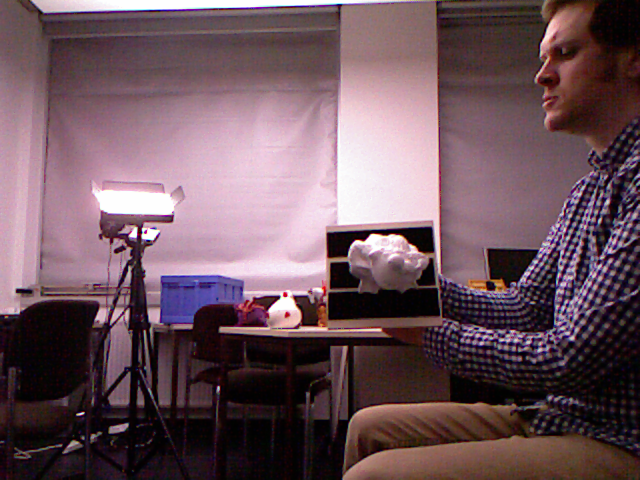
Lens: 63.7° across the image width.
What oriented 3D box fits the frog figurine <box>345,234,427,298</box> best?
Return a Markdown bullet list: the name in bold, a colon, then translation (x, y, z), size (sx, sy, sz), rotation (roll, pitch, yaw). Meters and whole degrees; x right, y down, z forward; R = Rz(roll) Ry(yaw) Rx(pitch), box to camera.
- **frog figurine**: translation (0.111, 0.033, 0.869), size (0.138, 0.125, 0.157), rotation (12, -22, 9)
